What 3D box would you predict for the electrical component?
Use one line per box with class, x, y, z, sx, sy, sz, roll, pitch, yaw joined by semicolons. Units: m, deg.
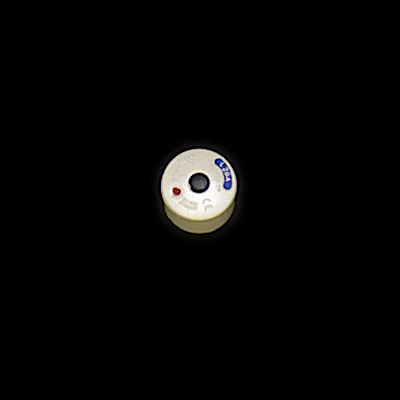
electrical component;0.000;0.000;0.617;0.040;0.040;0.078;0;-16;1
